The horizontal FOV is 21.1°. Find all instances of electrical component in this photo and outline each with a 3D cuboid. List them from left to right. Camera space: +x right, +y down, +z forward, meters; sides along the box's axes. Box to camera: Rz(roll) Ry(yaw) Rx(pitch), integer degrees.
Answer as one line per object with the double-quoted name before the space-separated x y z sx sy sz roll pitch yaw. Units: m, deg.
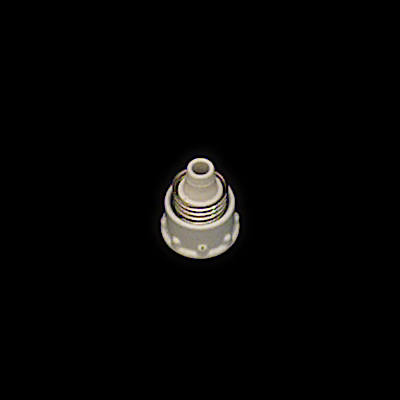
"electrical component" 0.000 0.000 0.636 0.048 0.048 0.062 0 -38 -1
